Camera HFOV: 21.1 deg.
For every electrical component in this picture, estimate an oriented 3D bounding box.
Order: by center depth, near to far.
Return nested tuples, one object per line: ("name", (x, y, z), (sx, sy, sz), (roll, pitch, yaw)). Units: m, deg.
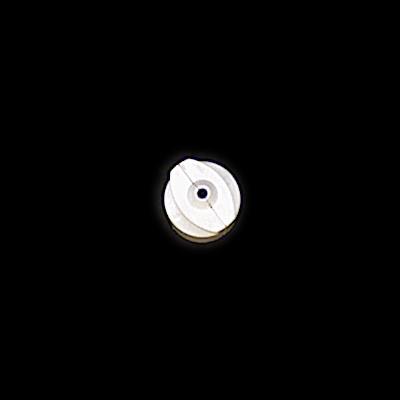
("electrical component", (0.000, 0.000, 0.616), (0.043, 0.043, 0.080), (0, -6, 1))
